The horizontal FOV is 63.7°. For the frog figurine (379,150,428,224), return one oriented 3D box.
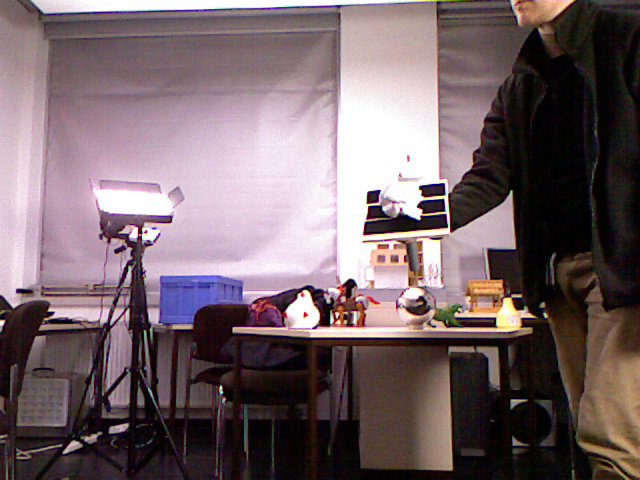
[{"bbox_3d":[0.193,-0.134,1.215,0.123,0.156,0.140,12,50,28],"label":"frog figurine"}]
